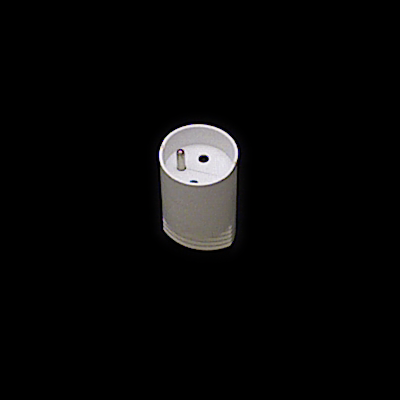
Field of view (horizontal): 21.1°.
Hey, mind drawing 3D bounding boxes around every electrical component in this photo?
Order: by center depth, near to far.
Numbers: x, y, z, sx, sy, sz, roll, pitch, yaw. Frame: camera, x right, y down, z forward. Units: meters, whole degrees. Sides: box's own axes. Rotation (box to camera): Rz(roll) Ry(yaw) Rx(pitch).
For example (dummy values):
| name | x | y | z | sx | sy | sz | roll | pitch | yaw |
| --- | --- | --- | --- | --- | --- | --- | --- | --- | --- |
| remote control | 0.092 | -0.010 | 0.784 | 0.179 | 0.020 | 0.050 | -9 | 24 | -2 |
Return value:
| name | x | y | z | sx | sy | sz | roll | pitch | yaw |
| --- | --- | --- | --- | --- | --- | --- | --- | --- | --- |
| electrical component | 0.000 | 0.000 | 0.618 | 0.043 | 0.043 | 0.081 | 0 | -39 | 0 |
